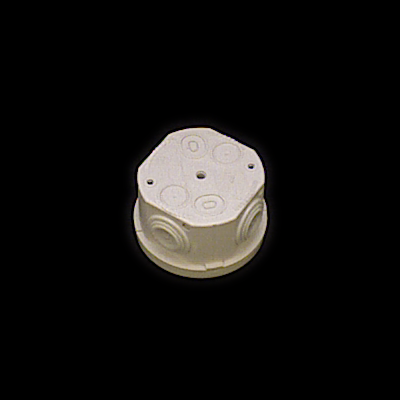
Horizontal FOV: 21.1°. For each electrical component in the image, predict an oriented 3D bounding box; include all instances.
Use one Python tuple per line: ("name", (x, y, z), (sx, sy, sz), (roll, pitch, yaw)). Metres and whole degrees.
("electrical component", (0.000, 0.000, 0.633), (0.080, 0.080, 0.051), (0, -38, -1))
